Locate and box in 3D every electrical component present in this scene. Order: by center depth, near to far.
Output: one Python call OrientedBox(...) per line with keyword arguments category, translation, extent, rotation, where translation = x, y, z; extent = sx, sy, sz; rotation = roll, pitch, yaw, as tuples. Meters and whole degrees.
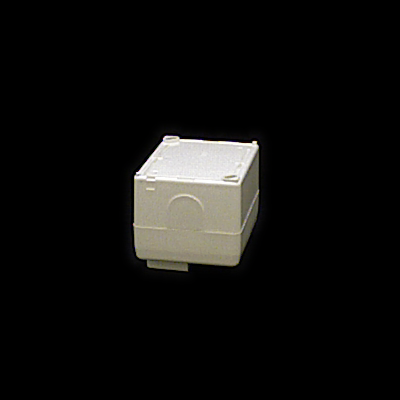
OrientedBox(category="electrical component", translation=(0.000, 0.000, 0.646), extent=(0.061, 0.062, 0.095), rotation=(4, 21, 10))
